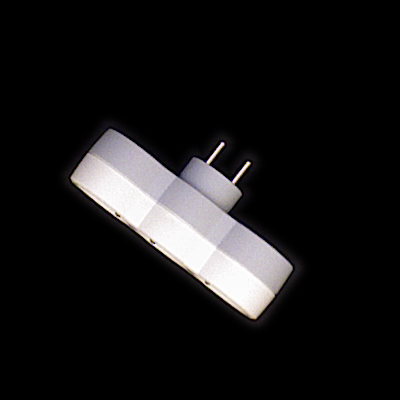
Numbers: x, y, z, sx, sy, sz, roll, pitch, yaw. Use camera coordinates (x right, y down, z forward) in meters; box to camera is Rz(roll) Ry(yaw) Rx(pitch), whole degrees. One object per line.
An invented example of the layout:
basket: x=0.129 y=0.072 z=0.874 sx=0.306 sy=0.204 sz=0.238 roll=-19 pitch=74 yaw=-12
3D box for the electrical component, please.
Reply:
electrical component: x=0.000 y=0.000 z=0.632 sx=0.138 sy=0.074 sz=0.052 roll=37 pitch=-7 yaw=5
